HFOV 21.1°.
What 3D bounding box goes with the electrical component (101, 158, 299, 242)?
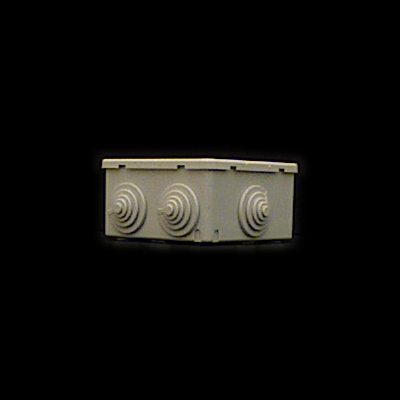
[{"bbox_3d":[0.000,0.000,0.655,0.098,0.048,0.101,2,1,40],"label":"electrical component"}]
